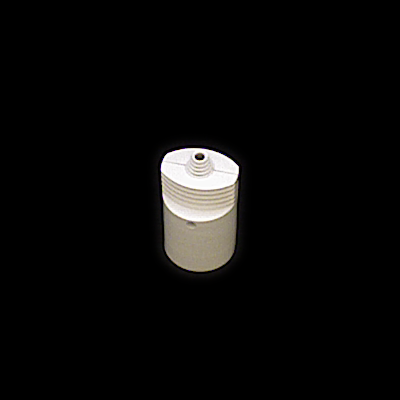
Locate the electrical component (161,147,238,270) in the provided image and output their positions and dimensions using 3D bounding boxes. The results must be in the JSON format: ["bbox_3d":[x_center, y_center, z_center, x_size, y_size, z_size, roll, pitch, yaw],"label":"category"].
[{"bbox_3d":[0.000,0.000,0.619,0.043,0.043,0.081,0,-38,0],"label":"electrical component"}]
